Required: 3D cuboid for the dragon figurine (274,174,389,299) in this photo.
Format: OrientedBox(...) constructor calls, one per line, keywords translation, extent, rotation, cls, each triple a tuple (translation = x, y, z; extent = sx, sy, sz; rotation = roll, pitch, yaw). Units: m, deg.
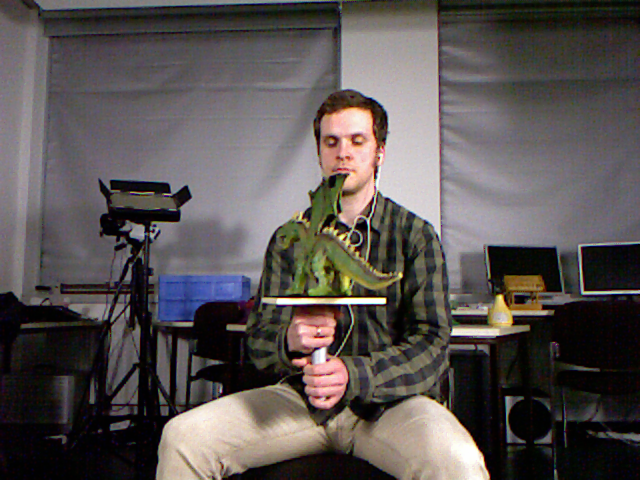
OrientedBox(translation=(0.014, -0.010, 1.011), extent=(0.122, 0.244, 0.408), rotation=(1, -7, -30), cls="dragon figurine")
